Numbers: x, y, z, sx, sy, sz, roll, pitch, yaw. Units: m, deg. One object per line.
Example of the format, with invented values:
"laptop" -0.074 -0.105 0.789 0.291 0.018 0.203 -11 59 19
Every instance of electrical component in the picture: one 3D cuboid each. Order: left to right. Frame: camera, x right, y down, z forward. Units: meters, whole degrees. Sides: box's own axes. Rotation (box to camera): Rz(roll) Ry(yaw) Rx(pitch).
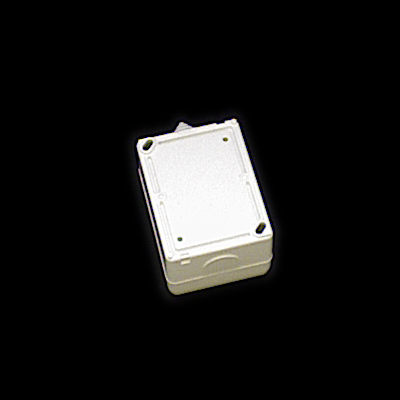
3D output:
"electrical component" 0.000 0.000 0.629 0.062 0.096 0.061 -13 -27 -6
